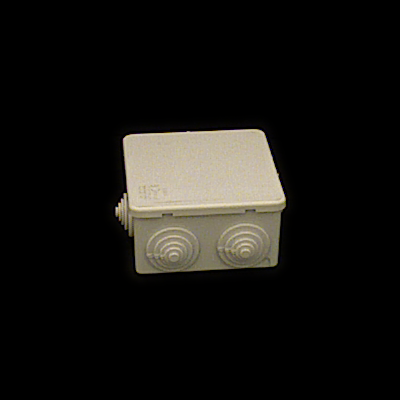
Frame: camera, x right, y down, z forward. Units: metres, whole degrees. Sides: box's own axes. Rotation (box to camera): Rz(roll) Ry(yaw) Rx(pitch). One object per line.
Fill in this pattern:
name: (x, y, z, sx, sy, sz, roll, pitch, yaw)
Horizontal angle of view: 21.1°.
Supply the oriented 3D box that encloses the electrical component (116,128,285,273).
electrical component: (0.000, 0.000, 0.643, 0.100, 0.049, 0.098, -2, 32, -6)
